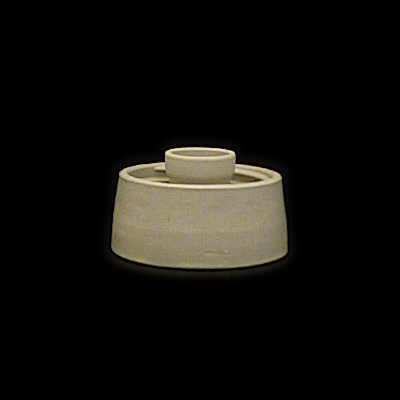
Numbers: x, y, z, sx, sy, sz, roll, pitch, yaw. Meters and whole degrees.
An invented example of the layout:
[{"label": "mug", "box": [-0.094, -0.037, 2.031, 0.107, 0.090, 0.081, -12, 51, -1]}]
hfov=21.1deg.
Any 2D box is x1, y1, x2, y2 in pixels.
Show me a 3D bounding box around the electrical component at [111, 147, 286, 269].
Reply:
[{"label": "electrical component", "box": [0.000, 0.000, 0.652, 0.108, 0.061, 0.107, 1, 11, 0]}]
